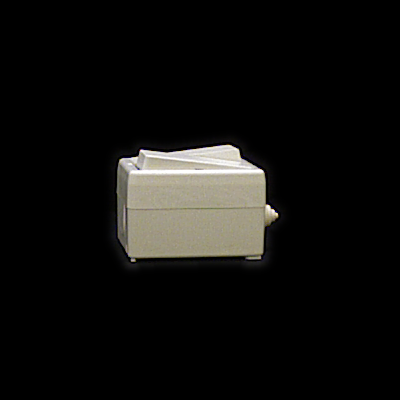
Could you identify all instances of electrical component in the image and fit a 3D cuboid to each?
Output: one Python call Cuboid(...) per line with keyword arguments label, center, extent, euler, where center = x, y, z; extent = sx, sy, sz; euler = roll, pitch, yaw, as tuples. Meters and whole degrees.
Cuboid(label="electrical component", center=(0.000, 0.000, 0.645), extent=(0.096, 0.061, 0.061), euler=(-1, 11, -10))
